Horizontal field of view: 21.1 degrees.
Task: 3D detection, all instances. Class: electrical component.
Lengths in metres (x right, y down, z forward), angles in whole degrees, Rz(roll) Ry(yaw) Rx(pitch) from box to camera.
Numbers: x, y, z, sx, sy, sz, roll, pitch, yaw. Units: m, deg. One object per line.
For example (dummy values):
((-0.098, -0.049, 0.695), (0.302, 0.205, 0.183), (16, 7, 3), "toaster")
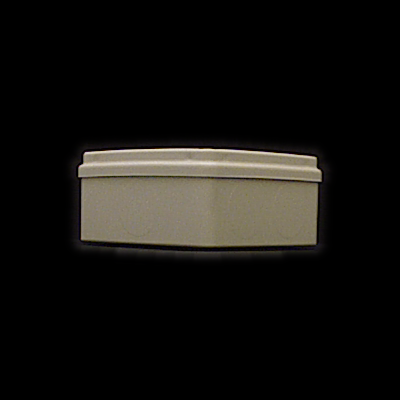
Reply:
((0.000, 0.000, 0.648), (0.108, 0.056, 0.109), (1, 0, 41), "electrical component")
